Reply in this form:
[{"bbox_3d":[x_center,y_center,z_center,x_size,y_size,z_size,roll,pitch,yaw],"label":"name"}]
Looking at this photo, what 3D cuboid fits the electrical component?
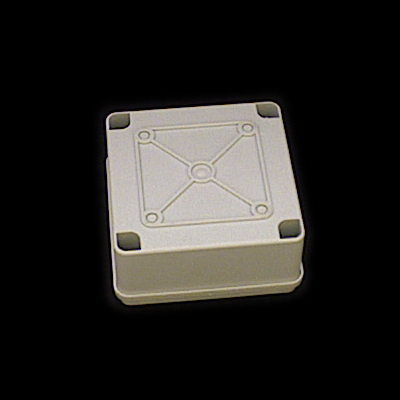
[{"bbox_3d":[0.000,0.000,0.631,0.109,0.108,0.056,-4,-38,-4],"label":"electrical component"}]
